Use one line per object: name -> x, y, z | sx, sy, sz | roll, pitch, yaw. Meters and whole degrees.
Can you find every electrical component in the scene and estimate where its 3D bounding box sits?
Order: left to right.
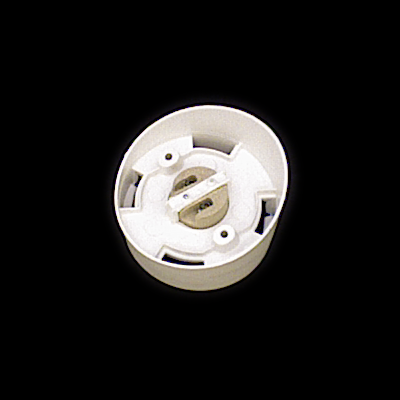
electrical component -> 0.000, 0.000, 0.625 | 0.099, 0.099, 0.064 | 0, -28, -1
